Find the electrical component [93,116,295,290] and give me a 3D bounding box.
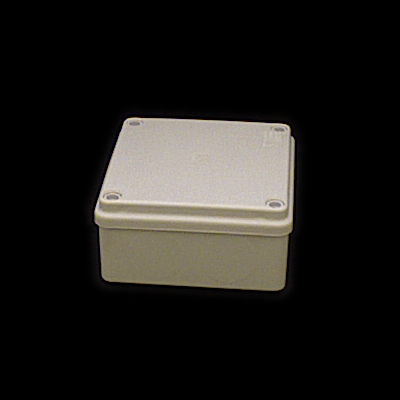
[{"bbox_3d":[0.000,0.000,0.635,0.109,0.057,0.107,3,32,4],"label":"electrical component"}]
